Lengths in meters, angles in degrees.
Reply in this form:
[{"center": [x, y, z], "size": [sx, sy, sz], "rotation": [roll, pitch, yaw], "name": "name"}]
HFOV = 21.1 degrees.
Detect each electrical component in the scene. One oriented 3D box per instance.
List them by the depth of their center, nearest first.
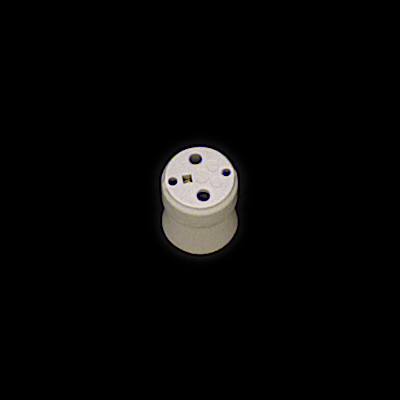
[{"center": [0.000, 0.000, 0.629], "size": [0.045, 0.045, 0.055], "rotation": [0, -27, -1], "name": "electrical component"}]
